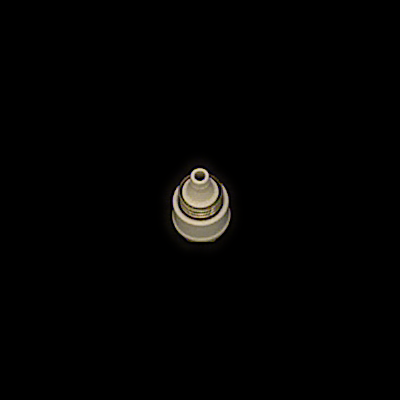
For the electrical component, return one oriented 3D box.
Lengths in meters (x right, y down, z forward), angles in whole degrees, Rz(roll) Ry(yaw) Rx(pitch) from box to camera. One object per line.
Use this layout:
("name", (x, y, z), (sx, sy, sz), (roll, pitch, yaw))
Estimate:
("electrical component", (0.000, 0.000, 0.637), (0.035, 0.035, 0.061), (0, -28, 1))
